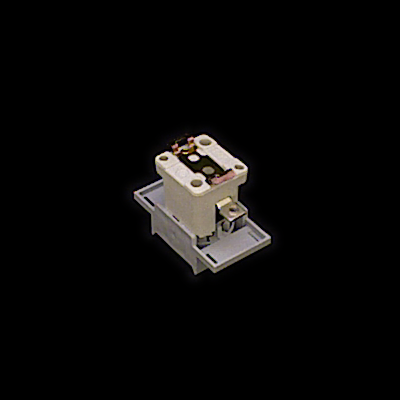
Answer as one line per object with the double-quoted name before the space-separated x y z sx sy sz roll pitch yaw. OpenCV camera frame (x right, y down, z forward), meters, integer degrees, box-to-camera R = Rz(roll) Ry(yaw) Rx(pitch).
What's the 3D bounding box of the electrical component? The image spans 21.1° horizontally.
"electrical component" 0.000 0.000 0.630 0.042 0.064 0.080 -28 49 -27
